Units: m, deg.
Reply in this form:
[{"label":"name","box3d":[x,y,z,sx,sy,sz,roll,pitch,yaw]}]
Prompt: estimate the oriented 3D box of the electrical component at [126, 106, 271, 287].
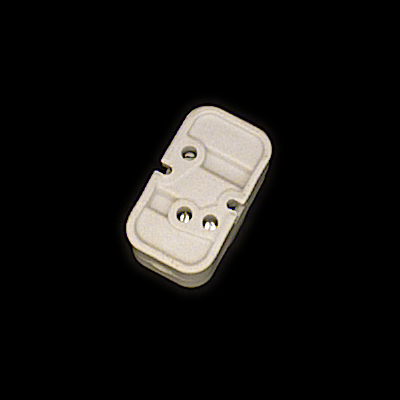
[{"label":"electrical component","box3d":[0.000,0.000,0.635,0.053,0.095,0.059,27,-15,8]}]
